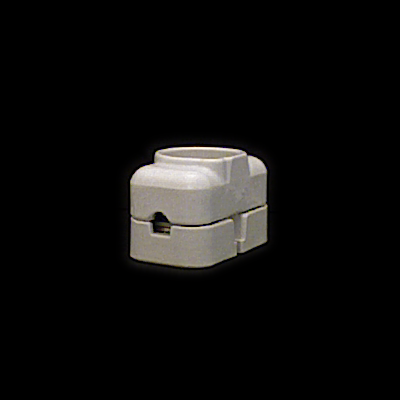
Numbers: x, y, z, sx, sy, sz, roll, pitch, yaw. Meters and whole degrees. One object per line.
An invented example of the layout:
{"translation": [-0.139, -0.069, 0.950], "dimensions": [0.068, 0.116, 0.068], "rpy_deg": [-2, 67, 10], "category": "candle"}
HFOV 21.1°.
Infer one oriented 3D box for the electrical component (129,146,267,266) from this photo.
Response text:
{"translation": [0.000, 0.000, 0.650], "dimensions": [0.053, 0.060, 0.095], "rpy_deg": [7, 13, 29], "category": "electrical component"}
